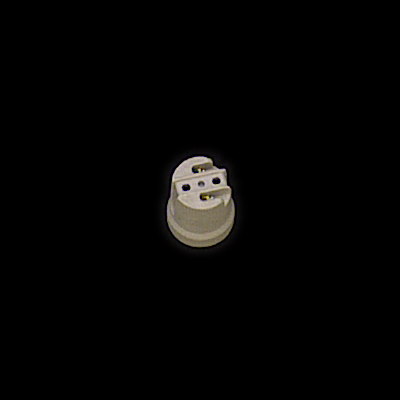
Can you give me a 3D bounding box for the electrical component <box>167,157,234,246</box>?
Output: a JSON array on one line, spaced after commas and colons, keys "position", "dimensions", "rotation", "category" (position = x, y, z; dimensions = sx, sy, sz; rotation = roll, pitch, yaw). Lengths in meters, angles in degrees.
[{"position": [0.000, 0.000, 0.633], "dimensions": [0.040, 0.040, 0.046], "rotation": [0, -26, 0], "category": "electrical component"}]
